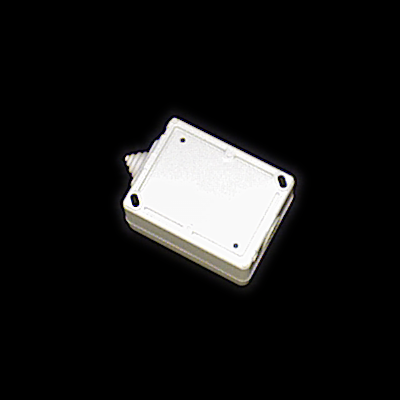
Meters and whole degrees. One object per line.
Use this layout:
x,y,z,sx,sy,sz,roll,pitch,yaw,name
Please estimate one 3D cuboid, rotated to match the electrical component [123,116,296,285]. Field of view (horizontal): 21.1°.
0.000,0.000,0.626,0.096,0.062,0.060,27,-14,8,electrical component
